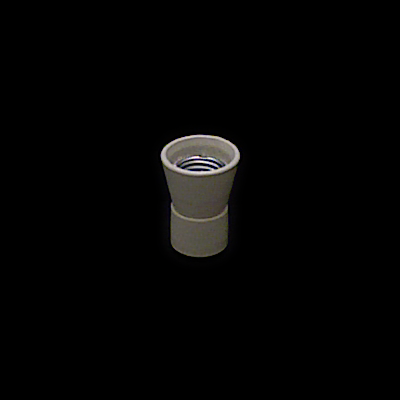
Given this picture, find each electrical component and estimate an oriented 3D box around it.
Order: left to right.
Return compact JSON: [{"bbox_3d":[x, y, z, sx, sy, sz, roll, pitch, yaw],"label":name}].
[{"bbox_3d":[0.000,0.000,0.631,0.044,0.066,0.044,1,32,0],"label":"electrical component"}]
